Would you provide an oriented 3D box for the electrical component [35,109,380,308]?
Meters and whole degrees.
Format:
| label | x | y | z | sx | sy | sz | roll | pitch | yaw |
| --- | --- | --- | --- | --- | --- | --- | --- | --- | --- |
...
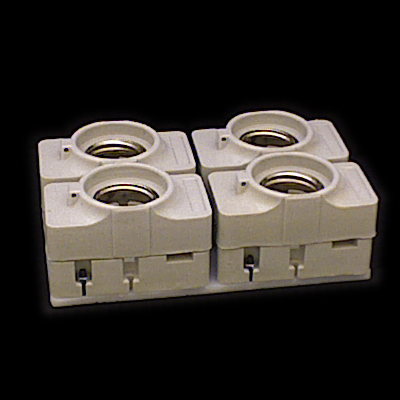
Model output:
| label | x | y | z | sx | sy | sz | roll | pitch | yaw |
| --- | --- | --- | --- | --- | --- | --- | --- | --- | --- |
| electrical component | 0.000 | 0.000 | 0.633 | 0.186 | 0.061 | 0.104 | -5 | 32 | -9 |
